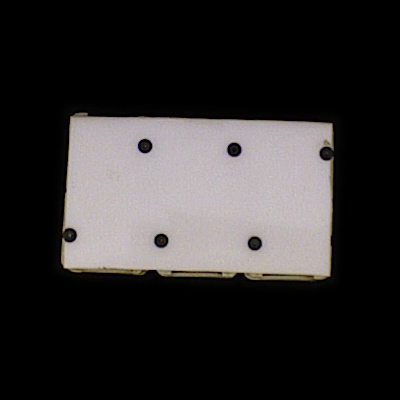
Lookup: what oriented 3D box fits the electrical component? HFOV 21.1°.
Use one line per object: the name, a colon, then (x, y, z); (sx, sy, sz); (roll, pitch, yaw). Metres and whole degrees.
electrical component: (0.000, 0.000, 0.631); (0.150, 0.089, 0.061); (2, -6, 1)
